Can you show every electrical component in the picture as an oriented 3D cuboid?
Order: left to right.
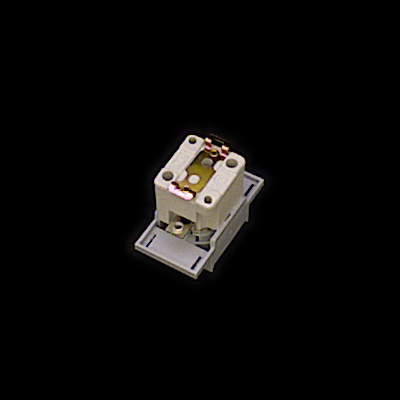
[{"bbox_3d":[0.000,0.000,0.627,0.042,0.081,0.064,25,-34,18],"label":"electrical component"}]
